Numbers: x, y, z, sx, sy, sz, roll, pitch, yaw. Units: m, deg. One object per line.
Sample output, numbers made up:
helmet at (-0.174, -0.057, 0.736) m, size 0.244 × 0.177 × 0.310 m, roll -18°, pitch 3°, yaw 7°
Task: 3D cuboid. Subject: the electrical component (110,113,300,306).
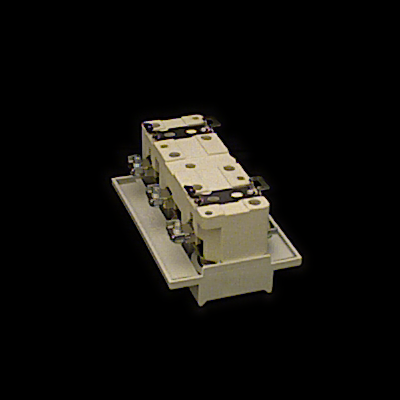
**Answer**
electrical component at (0.000, 0.000, 0.643) m, size 0.079 × 0.064 × 0.119 m, roll -10°, pitch 34°, yaw -17°
